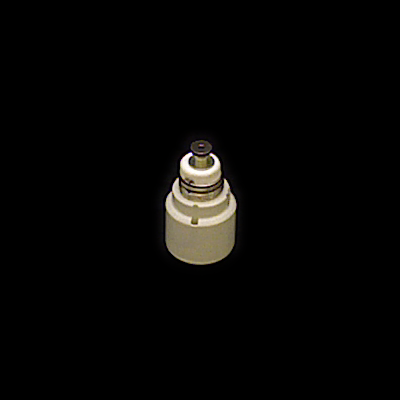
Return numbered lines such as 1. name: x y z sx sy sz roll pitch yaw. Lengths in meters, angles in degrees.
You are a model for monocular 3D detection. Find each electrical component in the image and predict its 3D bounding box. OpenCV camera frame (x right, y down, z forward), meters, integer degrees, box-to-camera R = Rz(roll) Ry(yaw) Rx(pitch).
1. electrical component: 0.000 0.000 0.623 0.040 0.079 0.039 0 41 0
